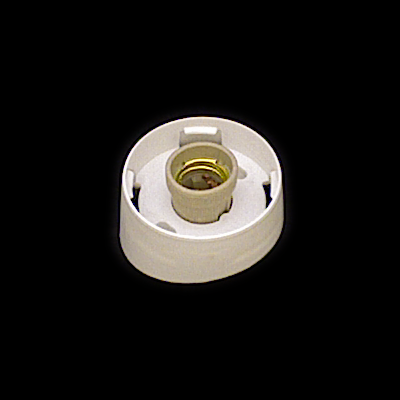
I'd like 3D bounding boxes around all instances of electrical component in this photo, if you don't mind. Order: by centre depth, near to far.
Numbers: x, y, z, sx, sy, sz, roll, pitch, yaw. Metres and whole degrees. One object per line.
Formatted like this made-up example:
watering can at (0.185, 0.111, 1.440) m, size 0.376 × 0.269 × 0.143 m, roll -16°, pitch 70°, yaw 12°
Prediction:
electrical component at (0.000, 0.000, 0.627) m, size 0.099 × 0.098 × 0.064 m, roll 0°, pitch -38°, yaw 0°
